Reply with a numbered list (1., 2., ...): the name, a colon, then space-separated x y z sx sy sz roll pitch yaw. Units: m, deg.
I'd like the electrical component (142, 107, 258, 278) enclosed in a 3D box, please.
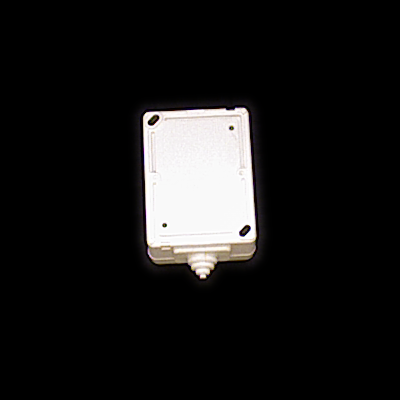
1. electrical component: 0.000 0.000 0.627 0.062 0.097 0.060 -3 -16 -1
